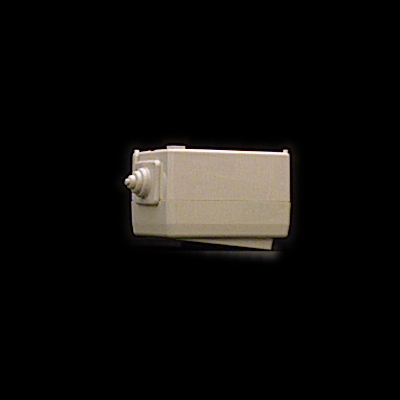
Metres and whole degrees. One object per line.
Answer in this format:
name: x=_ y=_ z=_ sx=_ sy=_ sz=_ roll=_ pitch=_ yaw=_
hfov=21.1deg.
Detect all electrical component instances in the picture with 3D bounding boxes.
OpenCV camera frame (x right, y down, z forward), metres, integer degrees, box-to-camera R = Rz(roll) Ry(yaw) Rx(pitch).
electrical component: x=0.000 y=0.000 z=0.651 sx=0.096 sy=0.061 sz=0.061 roll=0 pitch=1 yaw=-26
